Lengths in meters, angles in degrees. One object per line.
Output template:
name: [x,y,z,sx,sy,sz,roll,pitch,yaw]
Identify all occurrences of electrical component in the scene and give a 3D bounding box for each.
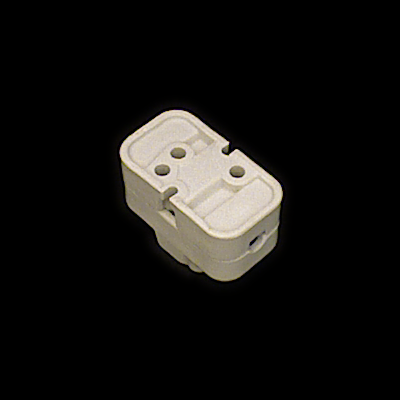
electrical component: [0.000,0.000,0.634,0.054,0.059,0.094,-38,62,-25]
